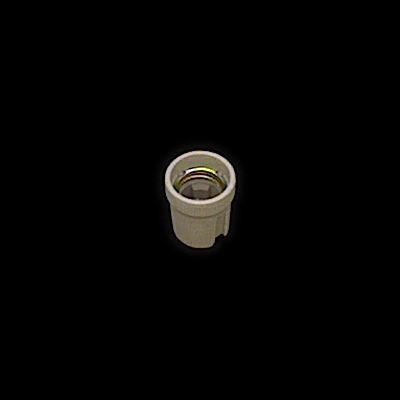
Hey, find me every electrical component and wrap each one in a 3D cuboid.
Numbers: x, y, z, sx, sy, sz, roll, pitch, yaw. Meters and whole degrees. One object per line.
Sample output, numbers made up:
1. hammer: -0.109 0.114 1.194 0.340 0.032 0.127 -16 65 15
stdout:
1. electrical component: 0.000 0.000 0.631 0.040 0.039 0.047 0 -38 -1
